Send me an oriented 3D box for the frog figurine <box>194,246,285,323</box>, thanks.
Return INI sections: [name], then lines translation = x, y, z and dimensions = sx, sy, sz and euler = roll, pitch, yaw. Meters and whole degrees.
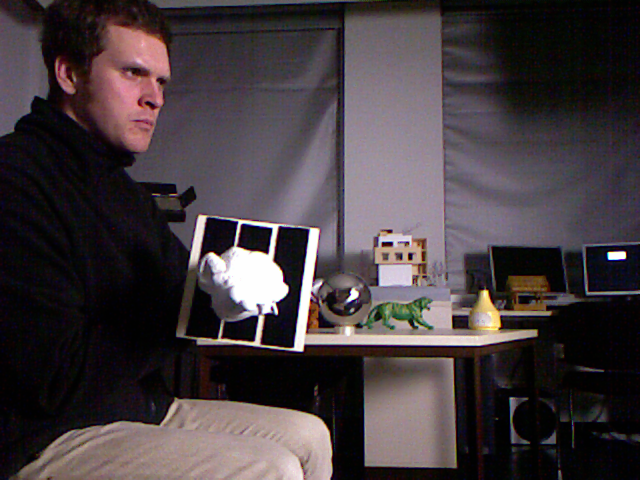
[frog figurine]
translation = -0.122, 0.062, 0.758
dimensions = 0.138, 0.124, 0.158
euler = 27, -14, 6
